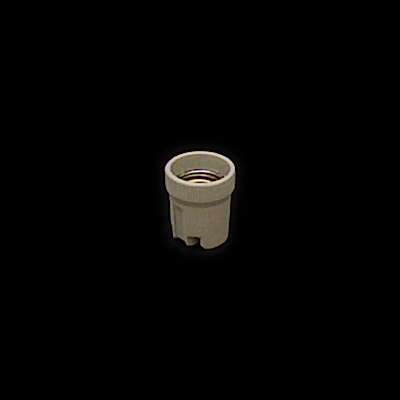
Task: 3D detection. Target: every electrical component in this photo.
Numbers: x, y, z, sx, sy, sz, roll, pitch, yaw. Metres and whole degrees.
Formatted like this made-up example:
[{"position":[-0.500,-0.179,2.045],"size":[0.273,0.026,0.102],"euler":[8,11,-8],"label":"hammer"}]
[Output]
[{"position":[0.000,0.000,0.635],"size":[0.040,0.047,0.039],"euler":[1,32,0],"label":"electrical component"}]
